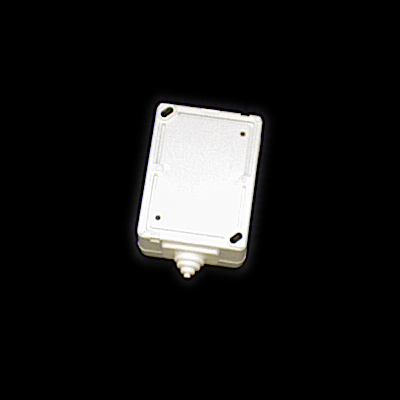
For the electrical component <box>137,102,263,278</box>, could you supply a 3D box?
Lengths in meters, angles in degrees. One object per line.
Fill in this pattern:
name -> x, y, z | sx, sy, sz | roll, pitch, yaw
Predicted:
electrical component -> -0.001, 0.000, 0.623 | 0.062, 0.097, 0.060 | 8, -17, 2
